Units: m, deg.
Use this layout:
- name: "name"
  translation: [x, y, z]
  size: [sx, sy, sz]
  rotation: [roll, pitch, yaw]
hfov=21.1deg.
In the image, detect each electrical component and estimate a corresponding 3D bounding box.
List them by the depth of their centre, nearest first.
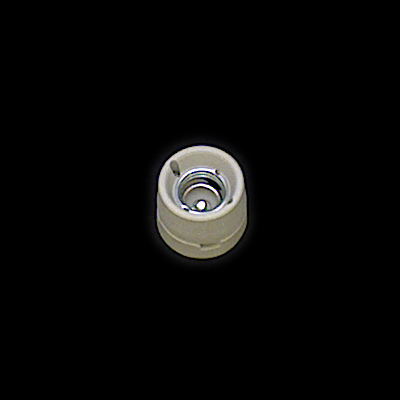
- name: "electrical component"
  translation: [0.000, 0.000, 0.633]
  size: [0.055, 0.055, 0.047]
  rotation: [0, -28, 1]
